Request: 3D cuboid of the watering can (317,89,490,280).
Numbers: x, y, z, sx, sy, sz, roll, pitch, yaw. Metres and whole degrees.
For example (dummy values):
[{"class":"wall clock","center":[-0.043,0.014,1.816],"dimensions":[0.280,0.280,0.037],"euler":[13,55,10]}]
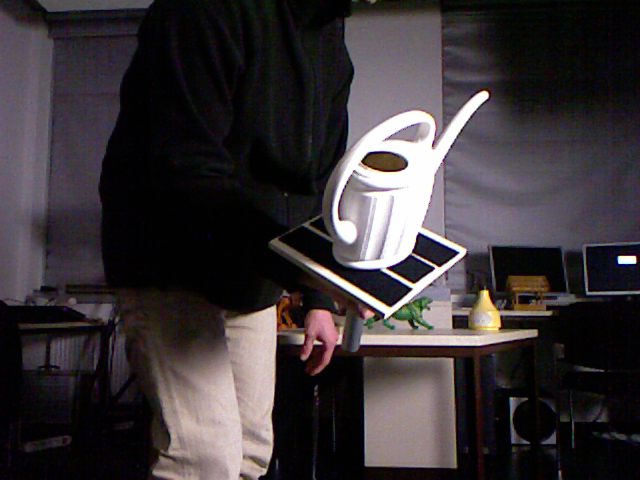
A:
[{"class":"watering can","center":[0.119,-0.079,0.702],"dimensions":[0.105,0.219,0.352],"euler":[34,45,30]}]
